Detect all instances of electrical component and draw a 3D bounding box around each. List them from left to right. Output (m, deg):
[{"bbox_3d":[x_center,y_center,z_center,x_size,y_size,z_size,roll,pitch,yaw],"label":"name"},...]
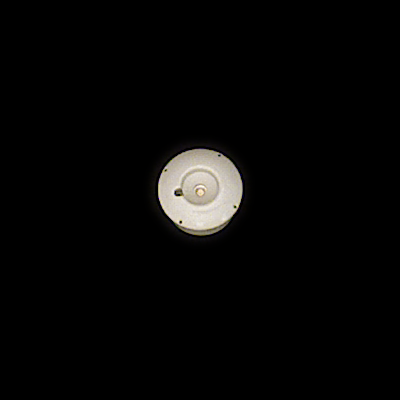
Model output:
[{"bbox_3d":[0.000,0.000,0.632,0.048,0.048,0.061,0,-16,1],"label":"electrical component"}]
